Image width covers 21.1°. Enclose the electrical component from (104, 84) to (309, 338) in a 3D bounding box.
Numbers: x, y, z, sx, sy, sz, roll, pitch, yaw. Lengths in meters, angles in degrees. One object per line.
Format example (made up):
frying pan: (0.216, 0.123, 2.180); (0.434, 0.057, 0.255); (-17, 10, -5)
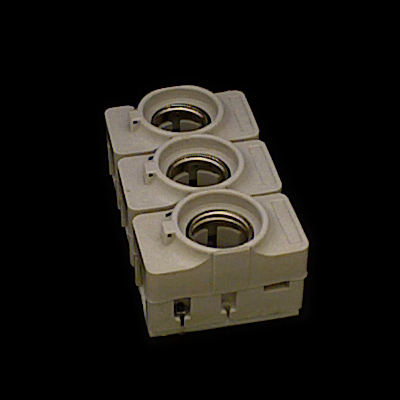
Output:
electrical component: (0.000, 0.000, 0.636); (0.089, 0.063, 0.147); (-9, 42, -10)
